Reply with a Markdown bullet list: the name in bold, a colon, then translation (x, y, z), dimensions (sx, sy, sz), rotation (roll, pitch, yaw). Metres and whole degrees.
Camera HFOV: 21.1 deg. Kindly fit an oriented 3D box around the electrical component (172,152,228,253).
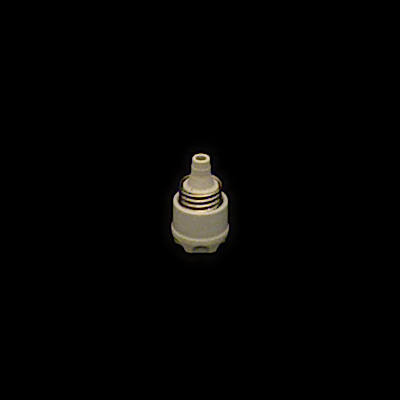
- **electrical component**: translation (0.000, 0.000, 0.648), dimensions (0.035, 0.062, 0.034), rotation (1, 34, 0)
